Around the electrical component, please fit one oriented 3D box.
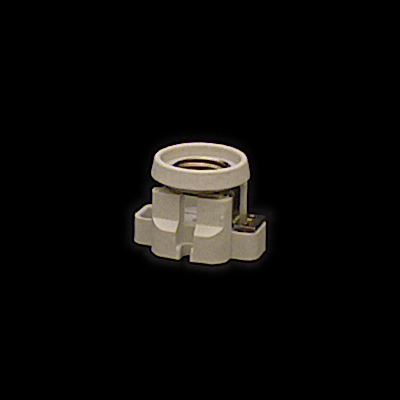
[{"bbox_3d":[0.000,0.000,0.640,0.078,0.057,0.057,8,22,18],"label":"electrical component"}]
